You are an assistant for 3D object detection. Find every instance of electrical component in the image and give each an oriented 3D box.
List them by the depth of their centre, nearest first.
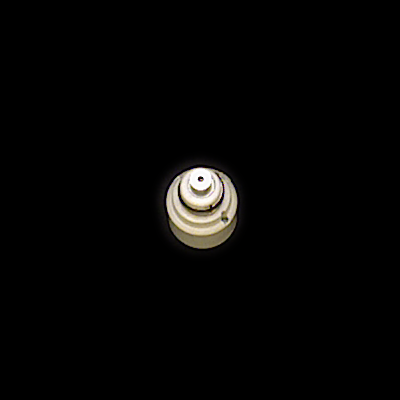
[{"bbox_3d":[0.000,0.000,0.617,0.040,0.040,0.078,0,-17,2],"label":"electrical component"}]
